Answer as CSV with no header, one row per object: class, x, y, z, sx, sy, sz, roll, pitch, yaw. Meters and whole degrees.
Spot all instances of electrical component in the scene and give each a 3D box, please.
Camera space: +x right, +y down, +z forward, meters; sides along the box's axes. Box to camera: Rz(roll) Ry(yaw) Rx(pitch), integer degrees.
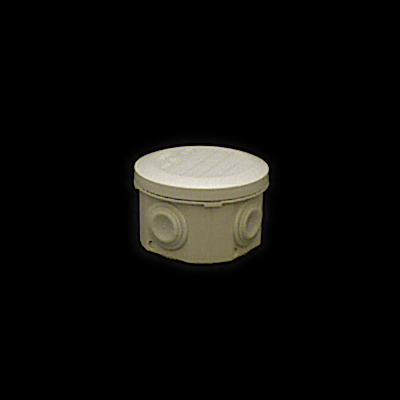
electrical component,0.000,0.000,0.643,0.080,0.051,0.079,1,21,0
